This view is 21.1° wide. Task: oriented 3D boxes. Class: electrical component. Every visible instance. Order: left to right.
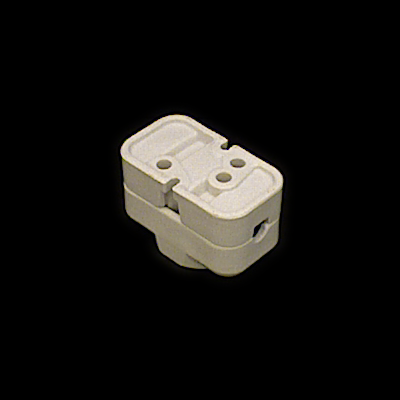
[{"bbox_3d":[0.000,0.000,0.640,0.094,0.060,0.054,32,51,30],"label":"electrical component"}]
